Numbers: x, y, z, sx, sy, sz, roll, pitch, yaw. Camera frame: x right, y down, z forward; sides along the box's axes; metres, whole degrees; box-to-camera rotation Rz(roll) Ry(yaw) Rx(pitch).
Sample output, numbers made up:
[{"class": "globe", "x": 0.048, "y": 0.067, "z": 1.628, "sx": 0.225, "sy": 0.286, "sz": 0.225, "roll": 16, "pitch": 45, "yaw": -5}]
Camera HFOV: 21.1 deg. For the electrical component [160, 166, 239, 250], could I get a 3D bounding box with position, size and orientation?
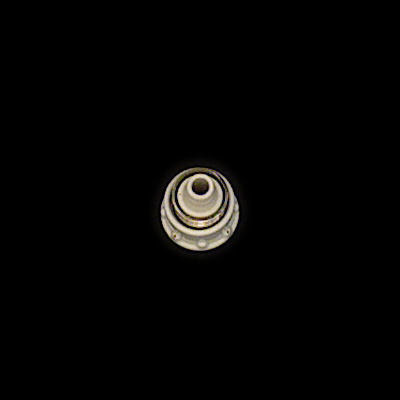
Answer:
[{"class": "electrical component", "x": 0.000, "y": 0.000, "z": 0.633, "sx": 0.048, "sy": 0.048, "sz": 0.061, "roll": 0, "pitch": -16, "yaw": -1}]
